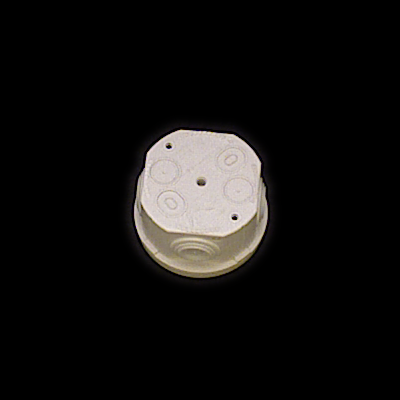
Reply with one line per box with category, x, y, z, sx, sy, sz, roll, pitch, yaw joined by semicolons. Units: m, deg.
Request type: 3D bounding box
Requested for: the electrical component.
electrical component;0.000;0.000;0.631;0.080;0.080;0.050;0;-27;-1
